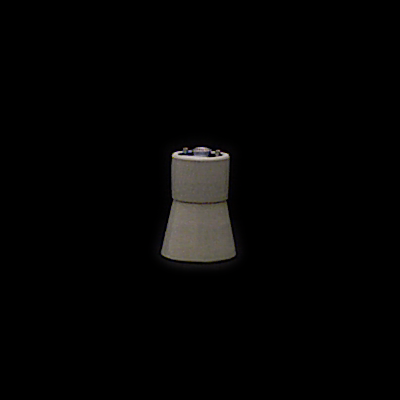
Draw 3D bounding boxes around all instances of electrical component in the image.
[{"bbox_3d":[0.000,0.000,0.642,0.044,0.066,0.044,1,12,0],"label":"electrical component"}]
